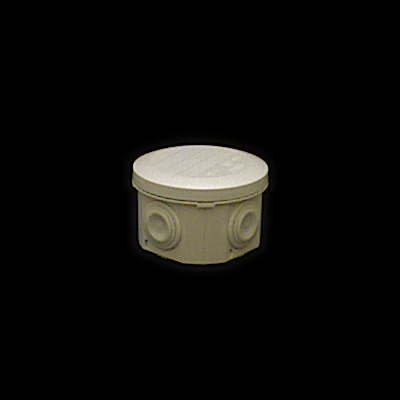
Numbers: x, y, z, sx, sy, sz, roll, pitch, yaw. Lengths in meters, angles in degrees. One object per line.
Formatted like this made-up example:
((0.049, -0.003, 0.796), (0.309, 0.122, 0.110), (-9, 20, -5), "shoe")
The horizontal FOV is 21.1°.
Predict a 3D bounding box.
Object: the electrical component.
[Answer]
((0.000, 0.000, 0.638), (0.080, 0.051, 0.079), (1, 21, 0), "electrical component")
